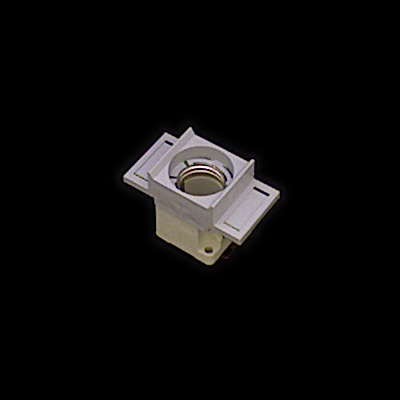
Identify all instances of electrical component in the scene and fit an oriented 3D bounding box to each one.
[{"bbox_3d":[0.000,0.000,0.625,0.080,0.042,0.064,29,-34,21],"label":"electrical component"}]
